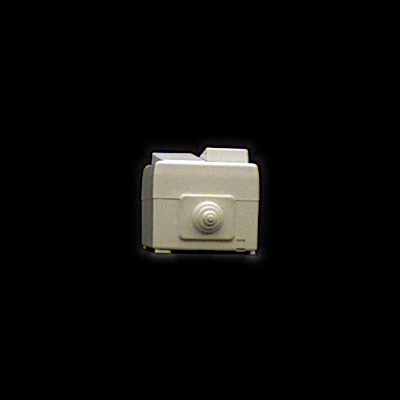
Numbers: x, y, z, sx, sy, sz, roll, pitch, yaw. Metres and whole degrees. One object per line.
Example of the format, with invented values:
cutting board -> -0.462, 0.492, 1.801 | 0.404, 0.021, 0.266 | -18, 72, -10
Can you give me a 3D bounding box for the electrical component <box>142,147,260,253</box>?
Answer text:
electrical component -> 0.000, 0.000, 0.647 | 0.062, 0.061, 0.096 | 1, 0, -8
